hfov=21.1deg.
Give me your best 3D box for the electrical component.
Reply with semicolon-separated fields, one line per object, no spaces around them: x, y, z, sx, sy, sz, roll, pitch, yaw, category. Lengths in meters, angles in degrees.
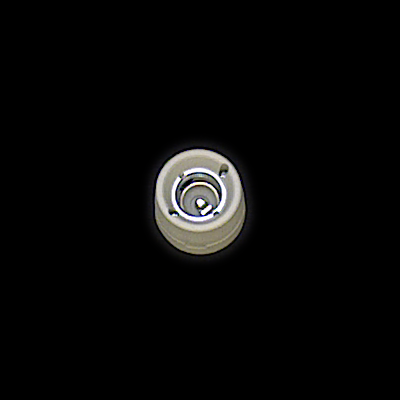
0.000;0.000;0.632;0.055;0.056;0.047;0;-17;1;electrical component
